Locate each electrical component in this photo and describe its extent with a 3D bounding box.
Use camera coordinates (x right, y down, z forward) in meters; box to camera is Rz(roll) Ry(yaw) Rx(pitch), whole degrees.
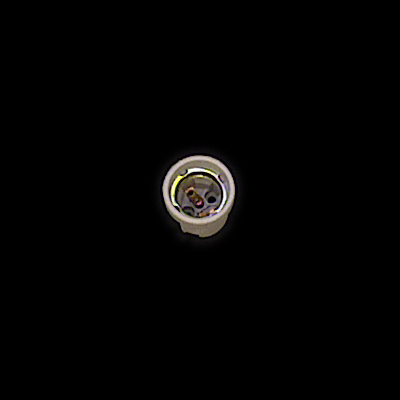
[{"bbox_3d":[0.000,0.000,0.626,0.040,0.040,0.046,0,-17,0],"label":"electrical component"}]
